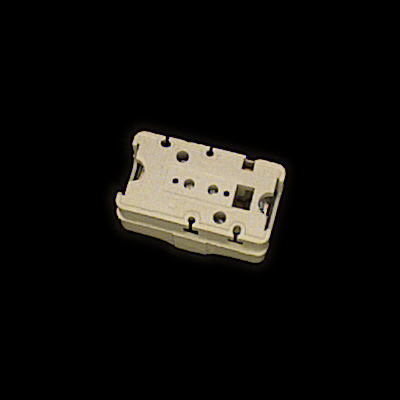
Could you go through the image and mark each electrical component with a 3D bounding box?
[{"bbox_3d":[0.000,0.000,0.636,0.089,0.050,0.055,14,-16,4],"label":"electrical component"}]
